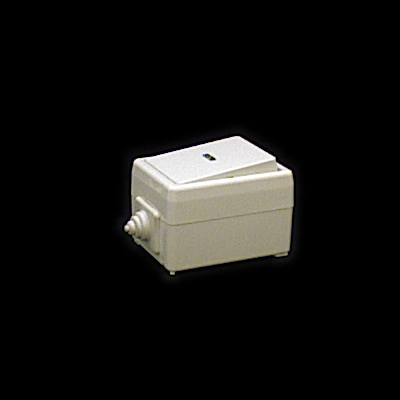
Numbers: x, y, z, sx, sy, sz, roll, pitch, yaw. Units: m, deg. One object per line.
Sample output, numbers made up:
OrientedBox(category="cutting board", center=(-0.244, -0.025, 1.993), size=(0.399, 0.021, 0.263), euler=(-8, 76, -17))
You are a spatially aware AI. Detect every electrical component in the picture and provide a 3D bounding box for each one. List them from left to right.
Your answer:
OrientedBox(category="electrical component", center=(0.000, 0.000, 0.638), size=(0.096, 0.061, 0.061), euler=(-8, 23, -24))
